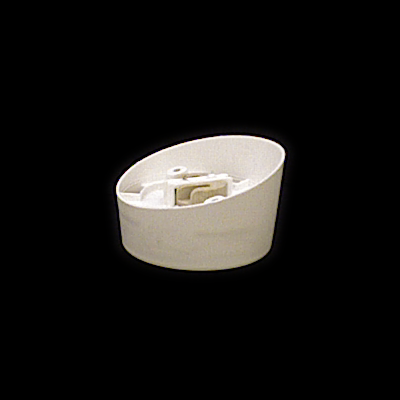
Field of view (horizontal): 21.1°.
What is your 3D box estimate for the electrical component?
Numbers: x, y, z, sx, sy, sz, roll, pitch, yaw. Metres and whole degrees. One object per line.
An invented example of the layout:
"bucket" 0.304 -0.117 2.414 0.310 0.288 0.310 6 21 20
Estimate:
"electrical component" 0.000 0.000 0.639 0.099 0.065 0.097 2 20 0
